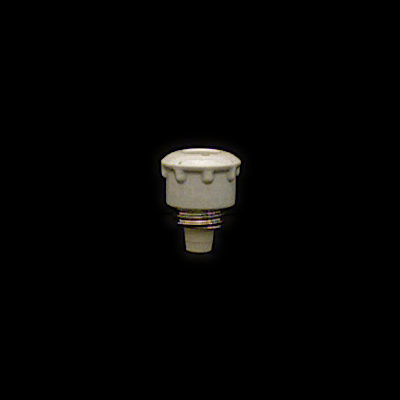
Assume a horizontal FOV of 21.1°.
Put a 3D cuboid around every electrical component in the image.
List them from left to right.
[{"bbox_3d":[0.000,0.000,0.652,0.048,0.062,0.048,1,11,0],"label":"electrical component"}]
